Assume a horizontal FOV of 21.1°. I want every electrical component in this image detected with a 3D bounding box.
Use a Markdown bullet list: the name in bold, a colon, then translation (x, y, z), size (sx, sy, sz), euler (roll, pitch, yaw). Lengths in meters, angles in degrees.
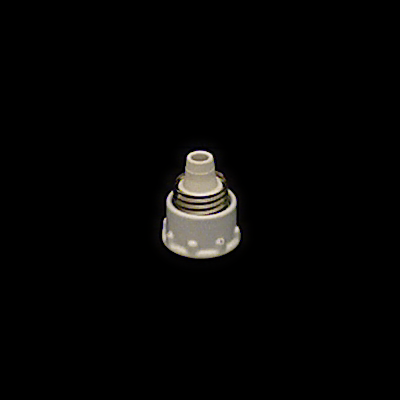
- **electrical component**: translation (0.000, 0.000, 0.640), size (0.048, 0.063, 0.047), euler (0, 32, 1)
